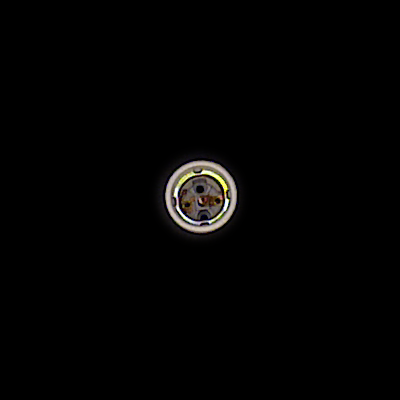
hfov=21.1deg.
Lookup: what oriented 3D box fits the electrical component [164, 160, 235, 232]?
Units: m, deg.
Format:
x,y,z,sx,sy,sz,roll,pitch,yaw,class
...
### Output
x,y,z,sx,sy,sz,roll,pitch,yaw,class
0.000,0.000,0.628,0.040,0.040,0.046,0,-7,0,electrical component
